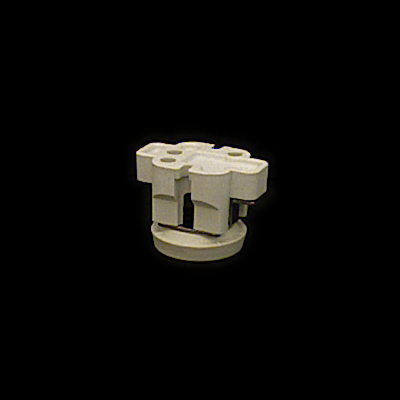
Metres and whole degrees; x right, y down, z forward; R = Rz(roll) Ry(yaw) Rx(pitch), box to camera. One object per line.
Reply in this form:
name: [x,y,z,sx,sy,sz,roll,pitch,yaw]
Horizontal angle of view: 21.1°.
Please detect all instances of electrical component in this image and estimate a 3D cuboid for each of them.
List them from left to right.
electrical component: [0.000,0.000,0.647,0.078,0.057,0.057,11,23,20]
